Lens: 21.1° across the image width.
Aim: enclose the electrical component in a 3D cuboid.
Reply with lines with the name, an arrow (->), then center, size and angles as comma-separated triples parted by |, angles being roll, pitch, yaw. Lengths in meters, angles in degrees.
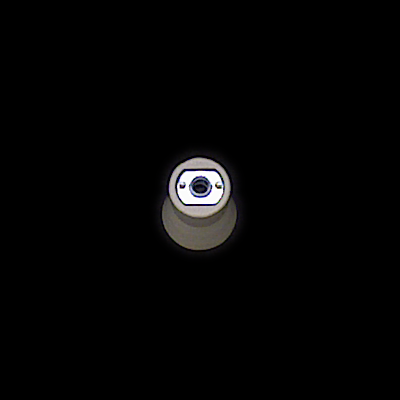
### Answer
electrical component -> 0.000, 0.000, 0.624 | 0.044, 0.044, 0.065 | 0, -16, 0
